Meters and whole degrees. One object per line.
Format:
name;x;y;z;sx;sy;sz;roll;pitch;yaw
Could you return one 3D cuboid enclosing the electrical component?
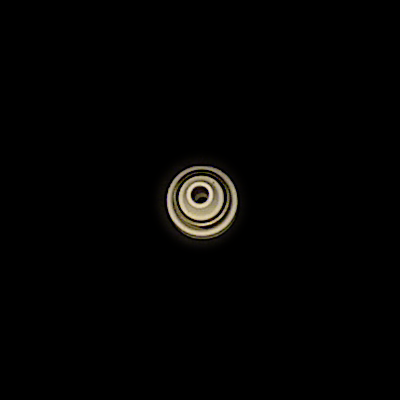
electrical component;0.000;0.000;0.635;0.043;0.043;0.062;0;-6;1
